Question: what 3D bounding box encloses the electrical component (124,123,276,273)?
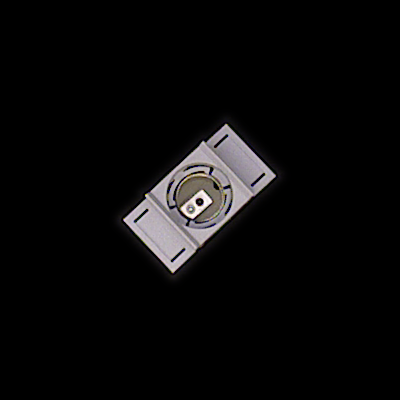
[{"bbox_3d":[0.000,0.000,0.624,0.081,0.042,0.063,-43,-3,-5],"label":"electrical component"}]
